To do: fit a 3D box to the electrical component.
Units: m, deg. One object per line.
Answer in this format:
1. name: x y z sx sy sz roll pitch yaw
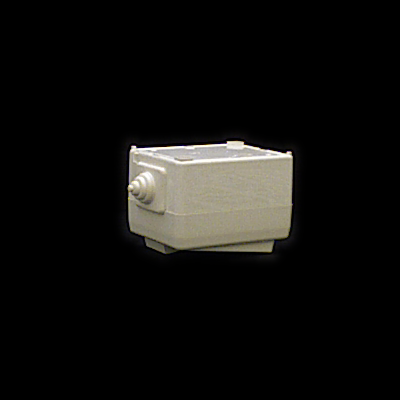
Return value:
1. electrical component: 0.000 0.000 0.638 0.096 0.061 0.061 -5 13 -33
